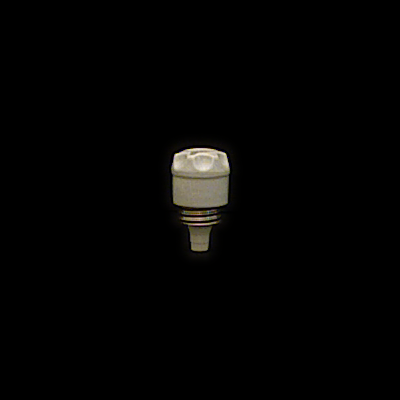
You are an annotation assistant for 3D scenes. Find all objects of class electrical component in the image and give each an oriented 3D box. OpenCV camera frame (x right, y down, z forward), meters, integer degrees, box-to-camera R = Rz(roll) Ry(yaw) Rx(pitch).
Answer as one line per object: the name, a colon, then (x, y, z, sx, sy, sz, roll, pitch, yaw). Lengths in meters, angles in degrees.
electrical component: (0.000, 0.000, 0.649, 0.035, 0.062, 0.035, 1, 12, 0)
